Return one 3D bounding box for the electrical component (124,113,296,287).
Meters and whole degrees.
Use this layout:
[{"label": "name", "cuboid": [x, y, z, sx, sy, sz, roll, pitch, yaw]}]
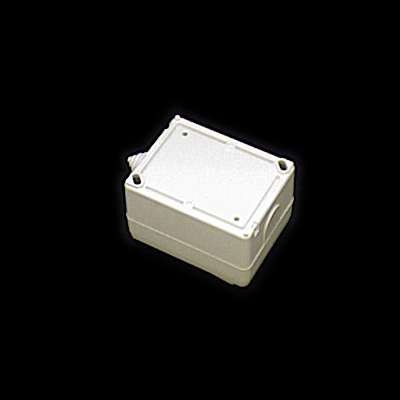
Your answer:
[{"label": "electrical component", "cuboid": [0.000, 0.000, 0.629, 0.096, 0.062, 0.061, 23, -34, 17]}]
